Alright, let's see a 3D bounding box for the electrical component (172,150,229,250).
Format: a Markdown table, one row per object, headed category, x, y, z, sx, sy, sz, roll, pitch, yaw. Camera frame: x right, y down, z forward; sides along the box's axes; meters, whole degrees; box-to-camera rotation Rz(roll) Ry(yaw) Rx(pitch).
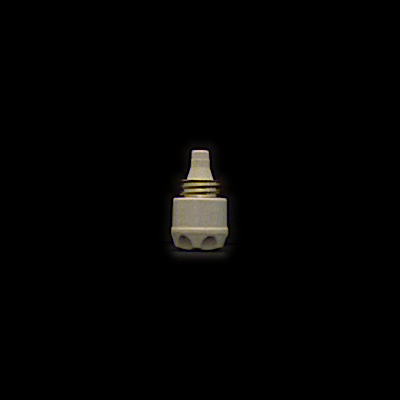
| category | x | y | z | sx | sy | sz | roll | pitch | yaw |
| --- | --- | --- | --- | --- | --- | --- | --- | --- | --- |
| electrical component | 0.000 | 0.000 | 0.660 | 0.035 | 0.061 | 0.035 | 1 | 0 | 0 |
